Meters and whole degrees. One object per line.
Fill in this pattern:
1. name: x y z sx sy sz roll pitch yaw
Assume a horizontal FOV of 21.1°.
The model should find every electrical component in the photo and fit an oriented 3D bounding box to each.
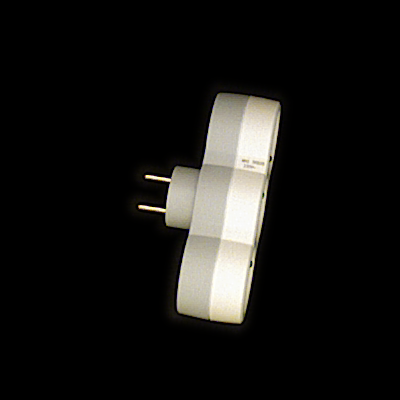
1. electrical component: 0.000 0.000 0.638 0.073 0.138 0.052 10 -16 5
